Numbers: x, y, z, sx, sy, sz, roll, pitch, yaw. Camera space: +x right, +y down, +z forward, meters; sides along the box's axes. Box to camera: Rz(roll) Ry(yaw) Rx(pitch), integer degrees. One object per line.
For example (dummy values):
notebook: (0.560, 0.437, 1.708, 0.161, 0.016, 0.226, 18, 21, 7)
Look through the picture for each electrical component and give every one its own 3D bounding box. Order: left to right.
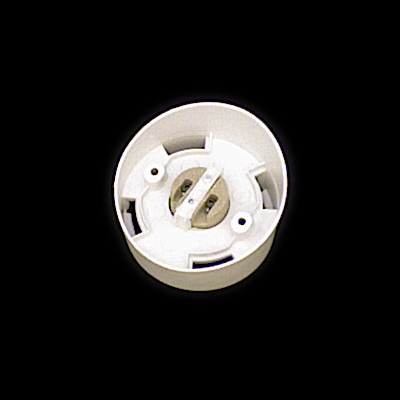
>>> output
electrical component: (0.000, 0.000, 0.625, 0.099, 0.099, 0.064, 0, -28, 0)
